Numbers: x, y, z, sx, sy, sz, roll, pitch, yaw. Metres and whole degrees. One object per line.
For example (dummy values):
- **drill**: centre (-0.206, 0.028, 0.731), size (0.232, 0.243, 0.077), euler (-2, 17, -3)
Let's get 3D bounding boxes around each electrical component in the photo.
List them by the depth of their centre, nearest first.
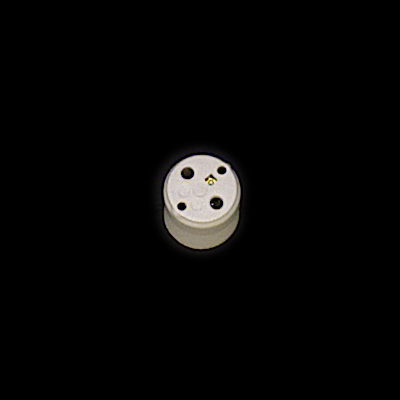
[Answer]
- **electrical component**: centre (0.000, 0.000, 0.628), size (0.045, 0.045, 0.055), euler (0, -16, 0)
